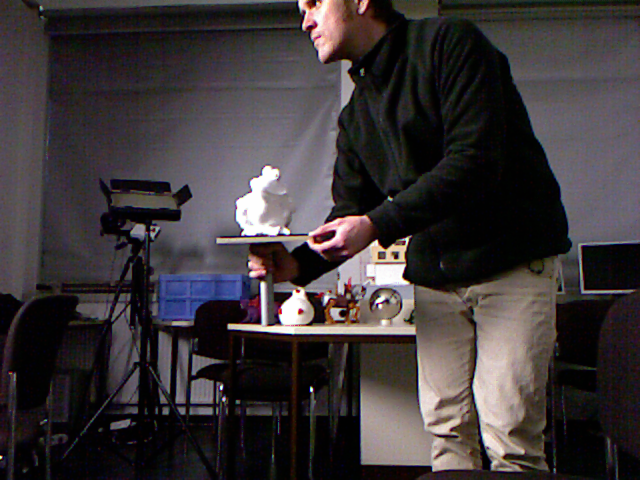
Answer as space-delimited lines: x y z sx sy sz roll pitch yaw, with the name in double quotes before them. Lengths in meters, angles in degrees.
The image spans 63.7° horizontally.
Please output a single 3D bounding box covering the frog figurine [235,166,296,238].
"frog figurine" -0.126 -0.087 1.168 0.137 0.159 0.123 1 5 14
